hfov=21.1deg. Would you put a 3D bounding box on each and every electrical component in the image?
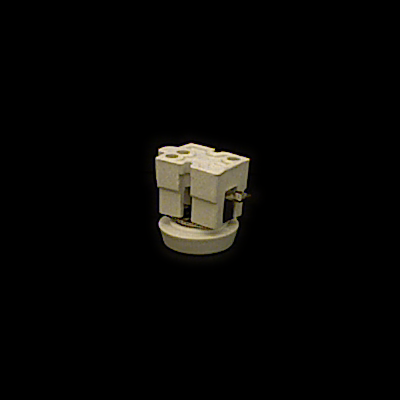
[{"bbox_3d":[0.000,0.000,0.647,0.065,0.056,0.048,16,25,30],"label":"electrical component"}]
